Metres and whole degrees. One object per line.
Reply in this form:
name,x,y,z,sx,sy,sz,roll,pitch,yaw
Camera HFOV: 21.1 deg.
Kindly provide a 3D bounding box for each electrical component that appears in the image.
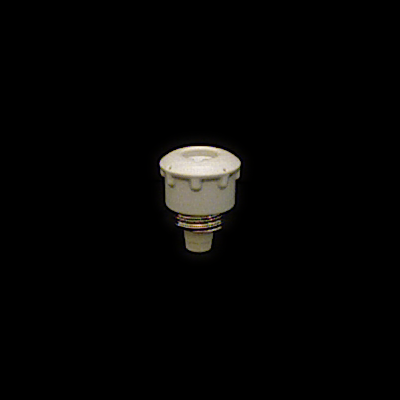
electrical component,0.000,0.000,0.645,0.048,0.062,0.047,1,22,0
